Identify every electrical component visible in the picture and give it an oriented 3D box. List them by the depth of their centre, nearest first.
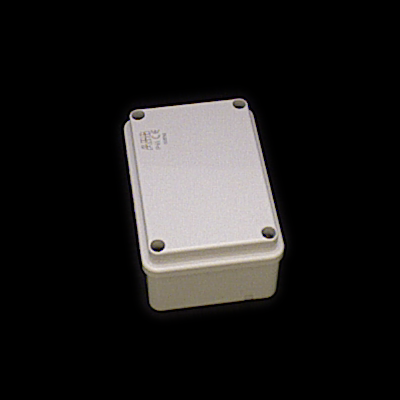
[{"bbox_3d":[0.000,0.000,0.628,0.078,0.112,0.057,-7,-37,-5],"label":"electrical component"}]
